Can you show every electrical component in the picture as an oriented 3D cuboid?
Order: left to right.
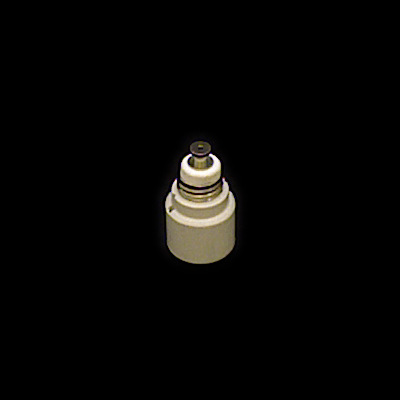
[{"bbox_3d":[0.000,0.000,0.625,0.040,0.079,0.039,0,43,0],"label":"electrical component"}]
